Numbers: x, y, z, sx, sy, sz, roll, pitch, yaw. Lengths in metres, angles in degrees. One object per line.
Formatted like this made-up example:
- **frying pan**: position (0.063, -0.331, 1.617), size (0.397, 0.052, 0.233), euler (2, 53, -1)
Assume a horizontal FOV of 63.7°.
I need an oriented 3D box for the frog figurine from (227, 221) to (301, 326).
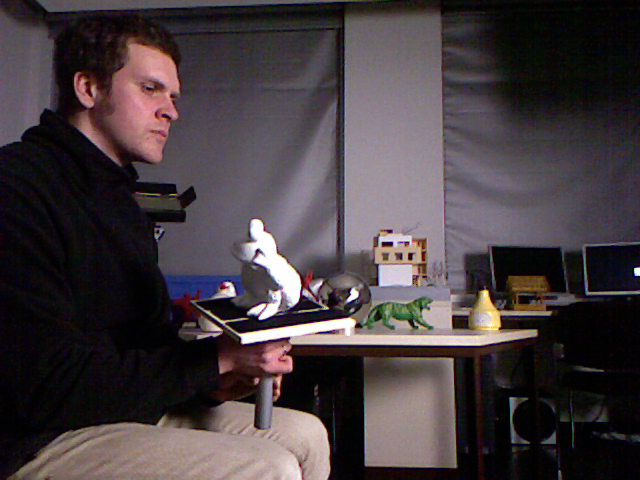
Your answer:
- **frog figurine**: position (-0.090, 0.045, 0.836), size (0.123, 0.158, 0.139), euler (1, 12, -17)
